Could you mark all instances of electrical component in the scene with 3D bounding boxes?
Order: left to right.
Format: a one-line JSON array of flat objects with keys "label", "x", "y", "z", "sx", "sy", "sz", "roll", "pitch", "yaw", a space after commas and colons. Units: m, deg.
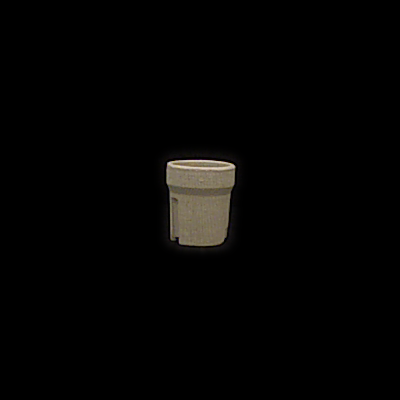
[{"label": "electrical component", "x": 0.000, "y": 0.000, "z": 0.645, "sx": 0.040, "sy": 0.046, "sz": 0.040, "roll": 1, "pitch": 11, "yaw": 0}]
